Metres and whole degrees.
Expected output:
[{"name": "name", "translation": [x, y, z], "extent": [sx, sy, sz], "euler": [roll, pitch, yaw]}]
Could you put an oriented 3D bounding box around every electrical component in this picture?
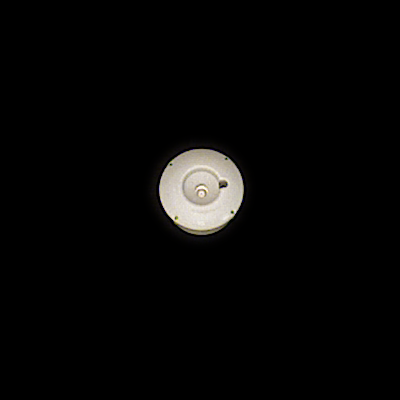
[{"name": "electrical component", "translation": [0.000, 0.000, 0.634], "extent": [0.048, 0.048, 0.062], "euler": [0, -16, 1]}]
